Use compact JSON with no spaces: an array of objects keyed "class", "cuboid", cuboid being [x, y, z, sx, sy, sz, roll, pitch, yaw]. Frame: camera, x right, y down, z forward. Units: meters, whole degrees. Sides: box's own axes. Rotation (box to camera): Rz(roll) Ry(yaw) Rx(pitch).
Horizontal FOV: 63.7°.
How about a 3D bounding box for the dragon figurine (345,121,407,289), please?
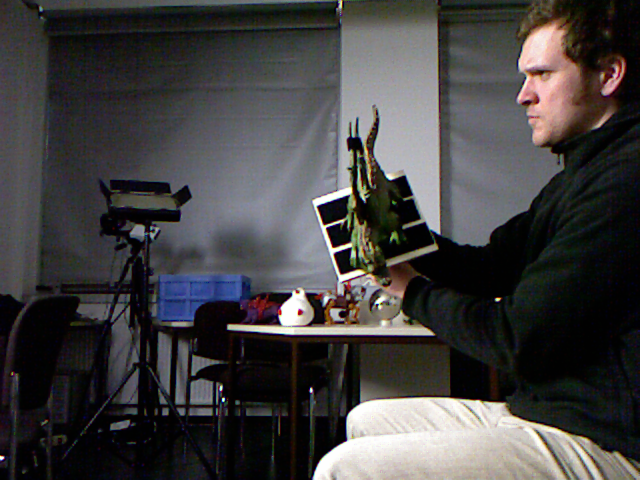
[{"class":"dragon figurine","cuboid":[0.093,-0.101,0.945,0.122,0.420,0.240,-7,-24,7]}]
